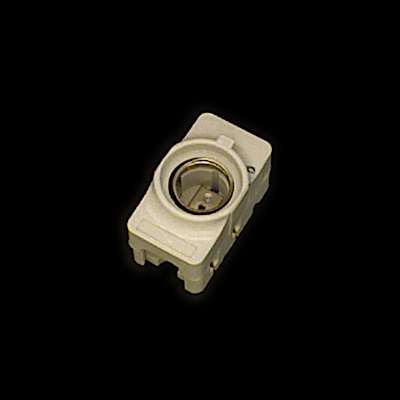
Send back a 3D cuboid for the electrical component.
[{"bbox_3d":[0.000,0.000,0.636,0.050,0.090,0.055,27,-23,13],"label":"electrical component"}]
